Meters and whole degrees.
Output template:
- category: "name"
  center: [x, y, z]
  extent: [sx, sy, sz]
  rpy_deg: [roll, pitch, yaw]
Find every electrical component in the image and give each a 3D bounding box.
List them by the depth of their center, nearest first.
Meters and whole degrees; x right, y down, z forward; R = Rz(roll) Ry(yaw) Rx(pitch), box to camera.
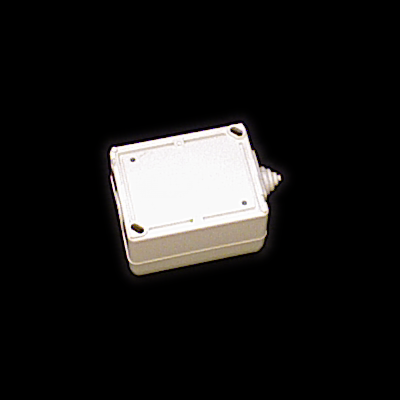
- category: "electrical component"
  center: [0.000, 0.000, 0.627]
  extent: [0.096, 0.062, 0.060]
  rpy_deg: [-11, -27, -7]
